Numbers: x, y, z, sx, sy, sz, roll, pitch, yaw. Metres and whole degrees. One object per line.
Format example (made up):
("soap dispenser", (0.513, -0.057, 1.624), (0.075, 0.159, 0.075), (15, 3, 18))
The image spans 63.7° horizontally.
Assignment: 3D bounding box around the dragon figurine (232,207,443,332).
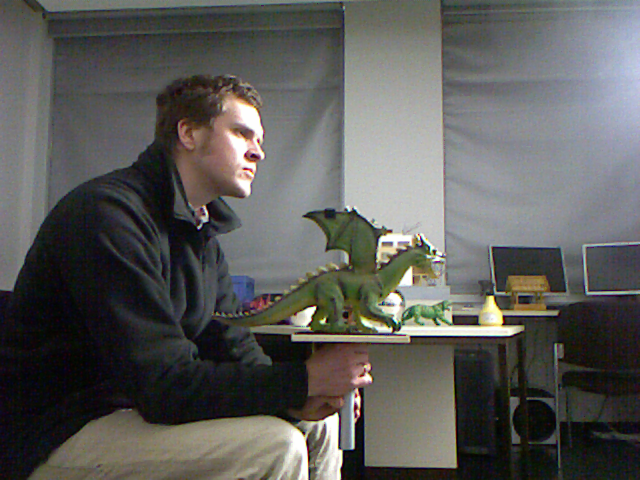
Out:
("dragon figurine", (0.032, 0.058, 0.992), (0.411, 0.244, 0.122), (0, -5, 3))
